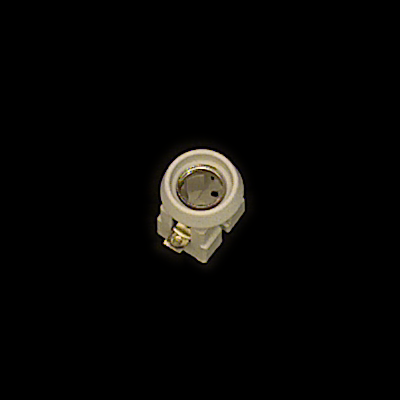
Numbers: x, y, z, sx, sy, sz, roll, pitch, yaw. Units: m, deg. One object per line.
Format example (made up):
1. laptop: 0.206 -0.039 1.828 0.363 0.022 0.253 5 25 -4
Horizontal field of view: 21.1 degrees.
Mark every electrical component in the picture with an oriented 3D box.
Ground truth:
1. electrical component: 0.000 0.000 0.636 0.048 0.067 0.055 29 -23 16
